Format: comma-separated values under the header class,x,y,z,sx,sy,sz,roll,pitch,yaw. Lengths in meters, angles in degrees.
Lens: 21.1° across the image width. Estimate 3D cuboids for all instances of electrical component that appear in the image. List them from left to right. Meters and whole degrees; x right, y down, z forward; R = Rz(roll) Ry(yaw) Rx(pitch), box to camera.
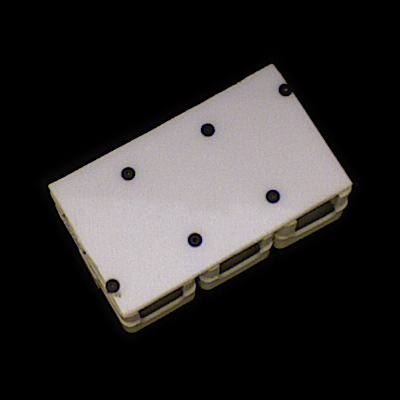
class,x,y,z,sx,sy,sz,roll,pitch,yaw
electrical component,0.000,0.000,0.631,0.150,0.089,0.062,-29,-15,-8
